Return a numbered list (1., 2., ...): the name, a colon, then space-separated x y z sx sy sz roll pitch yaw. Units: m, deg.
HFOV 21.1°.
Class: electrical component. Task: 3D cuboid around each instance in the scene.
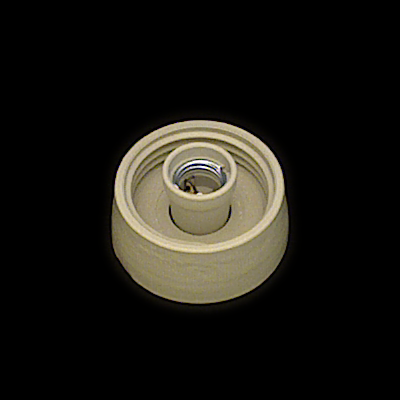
1. electrical component: 0.000 0.000 0.634 0.108 0.107 0.060 0 -37 -1
